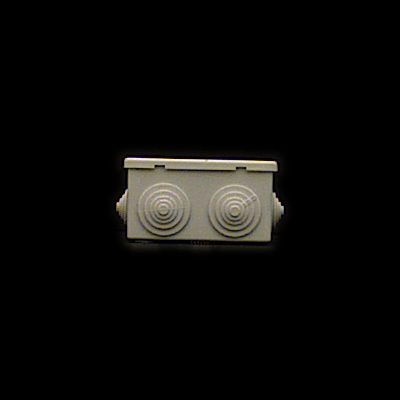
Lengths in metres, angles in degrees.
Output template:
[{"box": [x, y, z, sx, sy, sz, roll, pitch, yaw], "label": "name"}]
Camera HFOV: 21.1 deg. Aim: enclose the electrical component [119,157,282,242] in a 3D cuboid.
[{"box": [0.000, 0.000, 0.658, 0.100, 0.048, 0.099, 1, 1, 0], "label": "electrical component"}]
